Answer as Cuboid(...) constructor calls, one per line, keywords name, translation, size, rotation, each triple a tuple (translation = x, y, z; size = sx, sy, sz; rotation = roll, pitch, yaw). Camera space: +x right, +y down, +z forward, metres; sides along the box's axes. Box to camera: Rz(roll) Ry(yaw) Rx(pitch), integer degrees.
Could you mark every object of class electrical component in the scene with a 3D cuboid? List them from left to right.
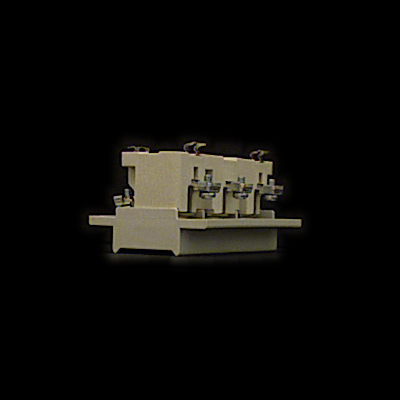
Cuboid(name="electrical component", translation=(0.000, 0.000, 0.658), size=(0.078, 0.063, 0.122), rotation=(1, 0, 30))
